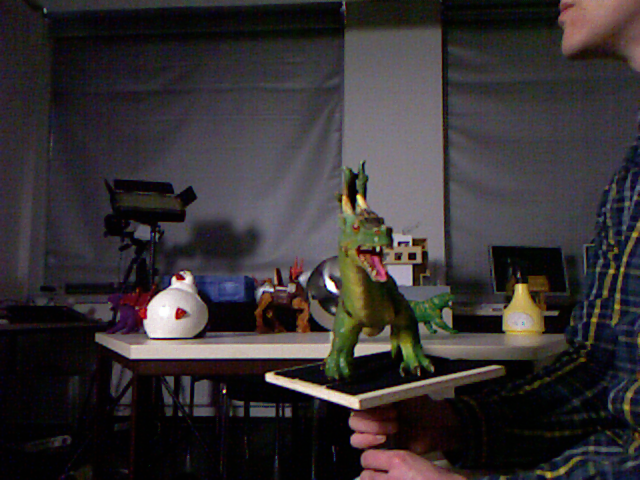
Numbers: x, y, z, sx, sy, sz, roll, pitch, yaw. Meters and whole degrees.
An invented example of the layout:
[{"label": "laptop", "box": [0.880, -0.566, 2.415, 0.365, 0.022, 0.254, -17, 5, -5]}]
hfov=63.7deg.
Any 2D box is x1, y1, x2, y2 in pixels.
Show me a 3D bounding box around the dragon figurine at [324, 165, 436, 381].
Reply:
[{"label": "dragon figurine", "box": [0.061, 0.027, 0.631, 0.122, 0.243, 0.410, -5, 1, 4]}]
